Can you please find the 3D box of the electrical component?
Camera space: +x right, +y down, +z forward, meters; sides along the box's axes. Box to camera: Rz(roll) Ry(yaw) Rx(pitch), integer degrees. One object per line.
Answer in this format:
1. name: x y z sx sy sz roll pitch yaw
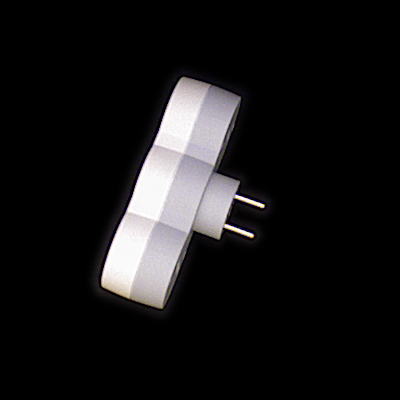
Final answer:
1. electrical component: 0.000 0.000 0.631 0.074 0.138 0.052 20 -17 4
